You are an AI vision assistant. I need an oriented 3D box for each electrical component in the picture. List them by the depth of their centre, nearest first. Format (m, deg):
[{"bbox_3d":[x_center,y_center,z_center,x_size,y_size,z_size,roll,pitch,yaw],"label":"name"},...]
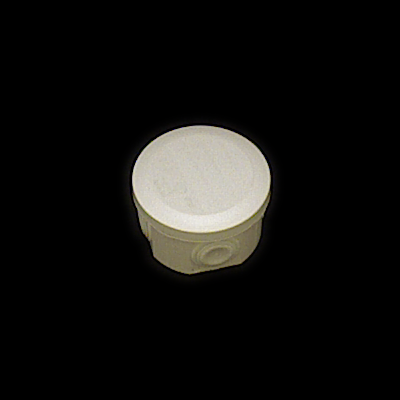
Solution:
[{"bbox_3d":[0.000,0.000,0.633,0.080,0.080,0.051,0,-38,0],"label":"electrical component"}]
